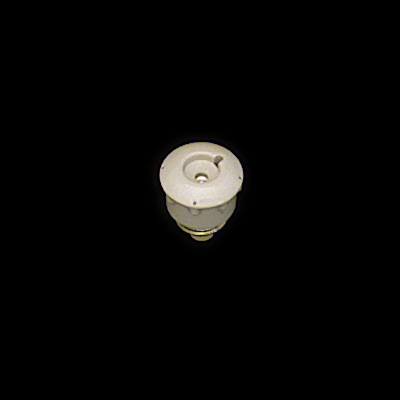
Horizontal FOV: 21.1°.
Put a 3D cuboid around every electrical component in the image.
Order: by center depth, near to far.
[{"bbox_3d":[0.000,0.000,0.636,0.048,0.048,0.062,0,-37,0],"label":"electrical component"}]
